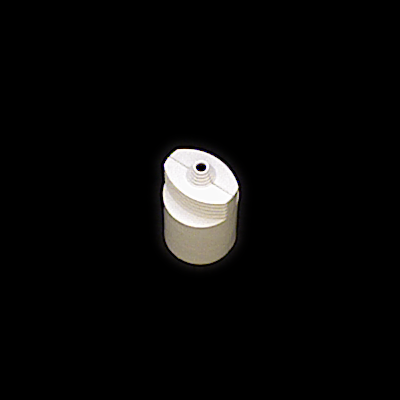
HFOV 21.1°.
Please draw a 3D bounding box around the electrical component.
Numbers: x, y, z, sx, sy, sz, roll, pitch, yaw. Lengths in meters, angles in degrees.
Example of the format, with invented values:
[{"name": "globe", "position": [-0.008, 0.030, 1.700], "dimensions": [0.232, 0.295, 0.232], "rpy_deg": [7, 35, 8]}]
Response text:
[{"name": "electrical component", "position": [0.000, 0.000, 0.617], "dimensions": [0.043, 0.043, 0.081], "rpy_deg": [0, -27, 0]}]
